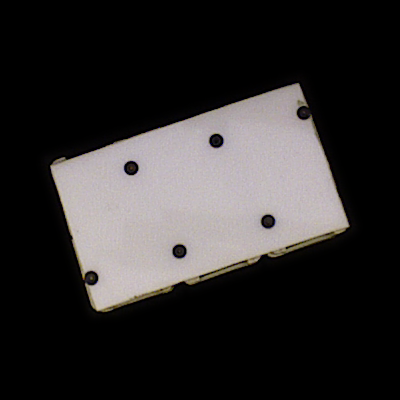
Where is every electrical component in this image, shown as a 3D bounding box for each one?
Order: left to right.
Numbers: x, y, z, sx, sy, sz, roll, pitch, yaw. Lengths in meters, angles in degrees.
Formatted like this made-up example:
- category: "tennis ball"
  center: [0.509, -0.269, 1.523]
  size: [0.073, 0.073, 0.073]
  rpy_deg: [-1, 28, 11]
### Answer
- category: "electrical component"
  center: [0.000, 0.000, 0.631]
  size: [0.150, 0.089, 0.061]
  rpy_deg: [-18, -6, -2]
